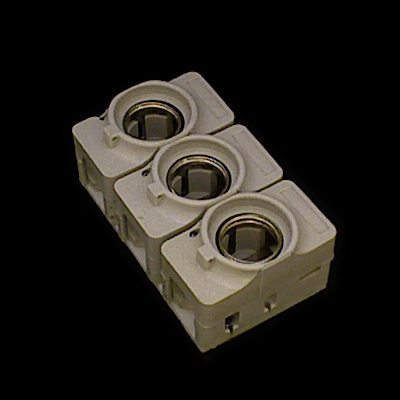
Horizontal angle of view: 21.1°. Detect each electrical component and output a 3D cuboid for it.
[{"bbox_3d":[0.000,0.000,0.632,0.089,0.148,0.062,-27,-33,-19],"label":"electrical component"}]
